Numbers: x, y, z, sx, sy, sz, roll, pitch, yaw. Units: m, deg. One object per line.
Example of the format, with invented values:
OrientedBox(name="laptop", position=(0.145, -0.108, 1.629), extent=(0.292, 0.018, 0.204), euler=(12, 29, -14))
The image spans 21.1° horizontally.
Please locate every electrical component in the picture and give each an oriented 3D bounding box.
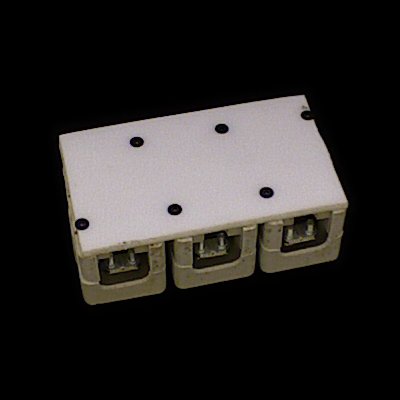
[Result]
OrientedBox(name="electrical component", position=(0.000, 0.000, 0.631), extent=(0.150, 0.088, 0.062), euler=(-10, -37, -8))
